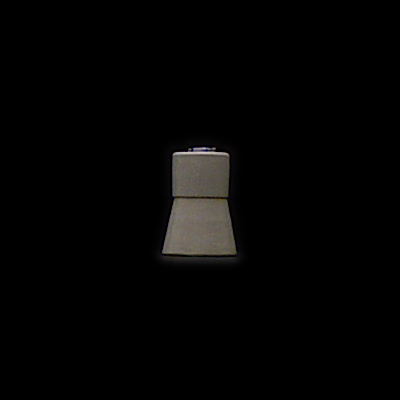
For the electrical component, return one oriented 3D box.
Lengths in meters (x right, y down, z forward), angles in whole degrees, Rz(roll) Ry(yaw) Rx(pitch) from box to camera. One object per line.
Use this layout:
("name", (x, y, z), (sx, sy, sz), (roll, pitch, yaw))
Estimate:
("electrical component", (0.000, 0.000, 0.649), (0.044, 0.065, 0.044), (1, 2, 0))
